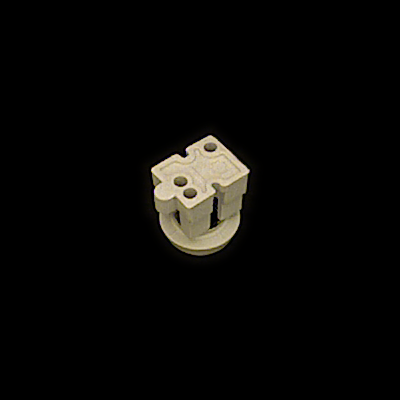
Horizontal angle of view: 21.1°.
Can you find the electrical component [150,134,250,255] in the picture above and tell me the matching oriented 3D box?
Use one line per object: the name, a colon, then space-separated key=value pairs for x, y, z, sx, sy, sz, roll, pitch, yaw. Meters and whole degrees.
electrical component: x=0.000 y=0.000 z=0.637 sx=0.067 sy=0.055 sz=0.048 roll=-31 pitch=58 yaw=-23
